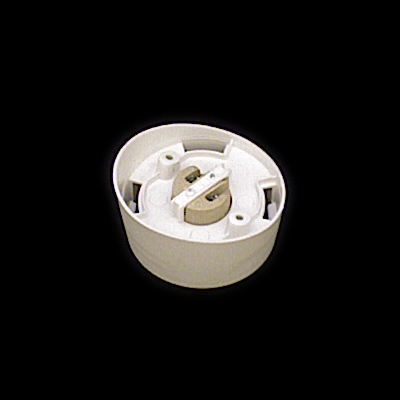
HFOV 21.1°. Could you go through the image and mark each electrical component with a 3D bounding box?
[{"bbox_3d":[0.000,0.000,0.625,0.099,0.098,0.064,0,-37,0],"label":"electrical component"}]
